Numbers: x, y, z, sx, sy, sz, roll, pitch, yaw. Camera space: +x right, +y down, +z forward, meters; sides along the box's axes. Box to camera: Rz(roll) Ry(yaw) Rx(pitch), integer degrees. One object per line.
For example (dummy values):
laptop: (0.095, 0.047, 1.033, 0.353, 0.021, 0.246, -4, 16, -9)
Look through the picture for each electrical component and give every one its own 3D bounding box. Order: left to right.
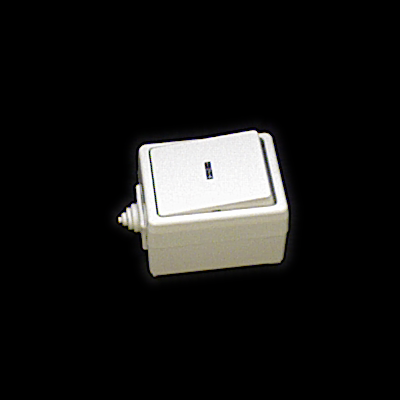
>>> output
electrical component: (0.000, 0.000, 0.628, 0.096, 0.061, 0.061, -6, -38, -5)
